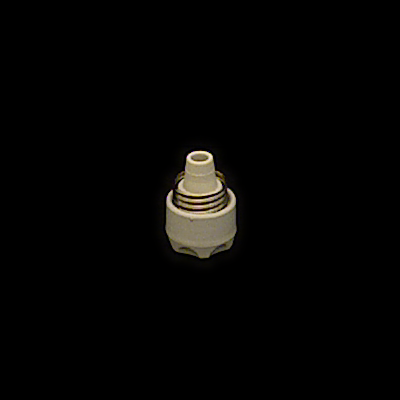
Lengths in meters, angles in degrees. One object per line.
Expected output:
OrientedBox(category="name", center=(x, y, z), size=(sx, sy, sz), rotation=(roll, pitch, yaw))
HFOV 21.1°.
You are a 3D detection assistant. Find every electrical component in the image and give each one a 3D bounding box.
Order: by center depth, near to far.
OrientedBox(category="electrical component", center=(0.000, 0.000, 0.641), size=(0.043, 0.063, 0.043), rotation=(0, 33, 1))
